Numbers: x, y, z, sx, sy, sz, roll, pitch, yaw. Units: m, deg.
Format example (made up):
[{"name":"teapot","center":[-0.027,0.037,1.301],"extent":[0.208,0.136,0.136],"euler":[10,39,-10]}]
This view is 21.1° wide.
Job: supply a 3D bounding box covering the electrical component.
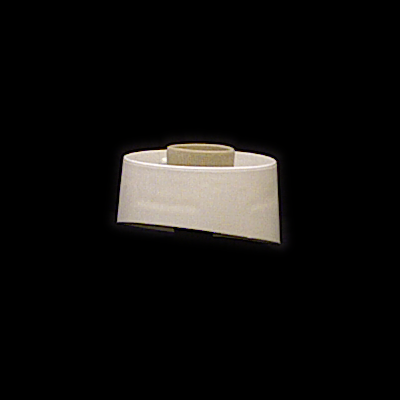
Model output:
[{"name":"electrical component","center":[0.000,0.000,0.643],"extent":[0.099,0.064,0.098],"euler":[1,10,0]}]
